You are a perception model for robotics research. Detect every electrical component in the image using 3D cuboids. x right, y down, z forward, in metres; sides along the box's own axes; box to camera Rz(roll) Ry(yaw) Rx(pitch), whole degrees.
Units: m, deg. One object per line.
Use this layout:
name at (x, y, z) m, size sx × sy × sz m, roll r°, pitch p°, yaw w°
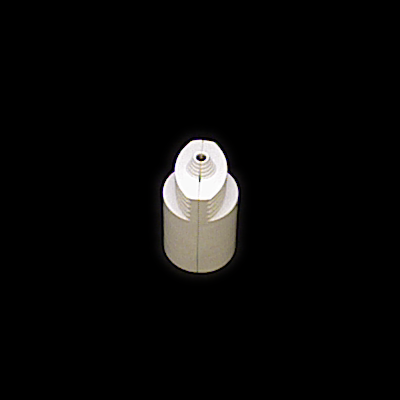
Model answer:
electrical component at (0.000, 0.000, 0.619) m, size 0.043 × 0.043 × 0.081 m, roll 0°, pitch -38°, yaw 0°
